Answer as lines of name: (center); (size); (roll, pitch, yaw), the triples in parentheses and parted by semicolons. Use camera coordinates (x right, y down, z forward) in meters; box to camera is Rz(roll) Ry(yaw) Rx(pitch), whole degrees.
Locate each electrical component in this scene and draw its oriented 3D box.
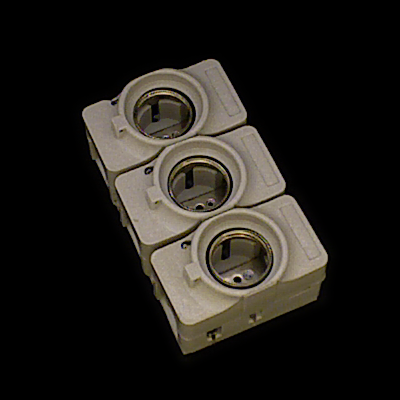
electrical component: (0.000, 0.000, 0.631); (0.089, 0.149, 0.062); (-23, -25, -10)
